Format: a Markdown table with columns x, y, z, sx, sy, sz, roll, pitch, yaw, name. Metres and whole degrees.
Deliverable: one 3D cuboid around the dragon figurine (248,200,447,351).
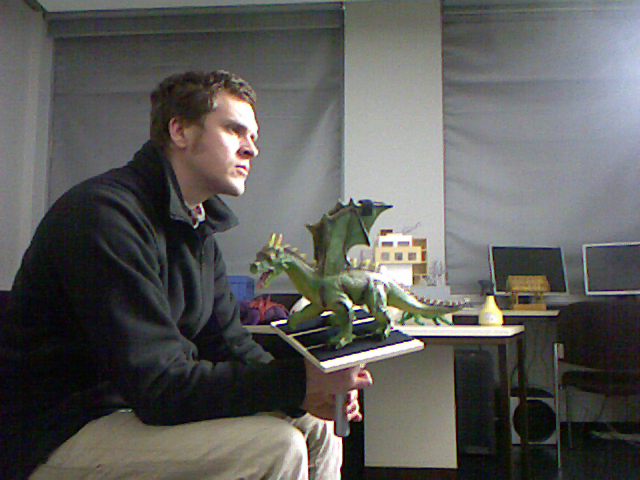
| x | y | z | sx | sy | sz | roll | pitch | yaw | name |
| --- | --- | --- | --- | --- | --- | --- | --- | --- | --- |
| 0.065 | 0.050 | 0.910 | 0.413 | 0.240 | 0.124 | -7 | 19 | -27 | dragon figurine |
